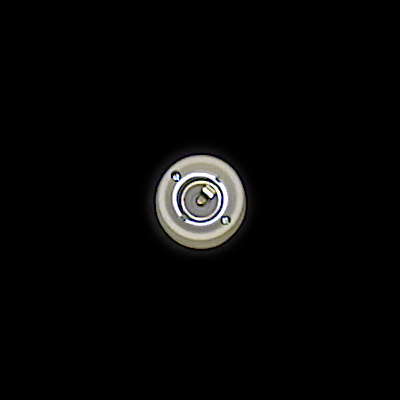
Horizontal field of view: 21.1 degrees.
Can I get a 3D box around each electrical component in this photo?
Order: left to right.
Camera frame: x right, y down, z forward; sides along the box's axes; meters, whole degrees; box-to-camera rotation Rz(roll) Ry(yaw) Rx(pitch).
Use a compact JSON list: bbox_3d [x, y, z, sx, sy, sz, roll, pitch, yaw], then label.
[{"bbox_3d":[0.000,0.000,0.633,0.055,0.055,0.047,0,-6,0],"label":"electrical component"}]
